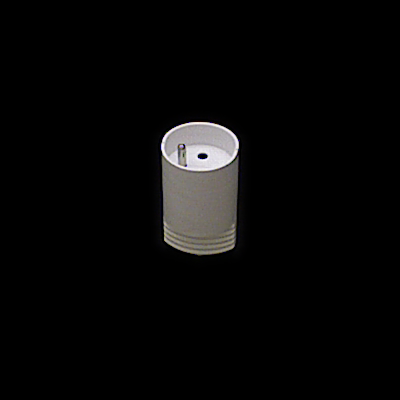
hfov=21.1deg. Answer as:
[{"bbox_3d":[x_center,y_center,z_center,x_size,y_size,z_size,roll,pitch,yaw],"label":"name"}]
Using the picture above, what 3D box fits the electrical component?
[{"bbox_3d":[0.000,0.000,0.621,0.043,0.082,0.042,0,41,0],"label":"electrical component"}]
